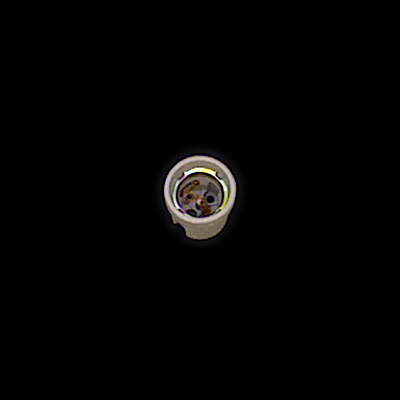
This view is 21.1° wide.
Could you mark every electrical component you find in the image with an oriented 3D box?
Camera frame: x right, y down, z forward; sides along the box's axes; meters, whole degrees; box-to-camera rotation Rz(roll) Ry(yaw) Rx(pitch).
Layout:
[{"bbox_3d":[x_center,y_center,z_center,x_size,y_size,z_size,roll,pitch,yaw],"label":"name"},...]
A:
[{"bbox_3d":[0.000,0.000,0.627,0.040,0.040,0.046,0,-17,-1],"label":"electrical component"}]
